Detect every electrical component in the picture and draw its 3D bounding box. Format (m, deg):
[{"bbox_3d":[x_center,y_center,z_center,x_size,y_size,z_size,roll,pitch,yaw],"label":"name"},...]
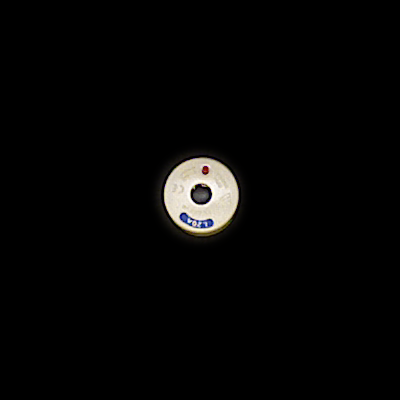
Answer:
[{"bbox_3d":[0.000,0.000,0.618,0.040,0.040,0.078,0,-7,1],"label":"electrical component"}]
